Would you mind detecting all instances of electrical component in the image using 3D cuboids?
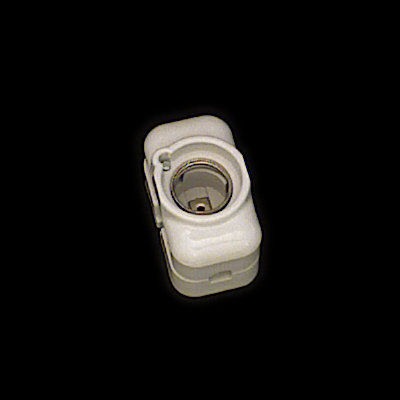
[{"bbox_3d":[0.000,0.000,0.634,0.054,0.095,0.059,-13,-26,-7],"label":"electrical component"}]
